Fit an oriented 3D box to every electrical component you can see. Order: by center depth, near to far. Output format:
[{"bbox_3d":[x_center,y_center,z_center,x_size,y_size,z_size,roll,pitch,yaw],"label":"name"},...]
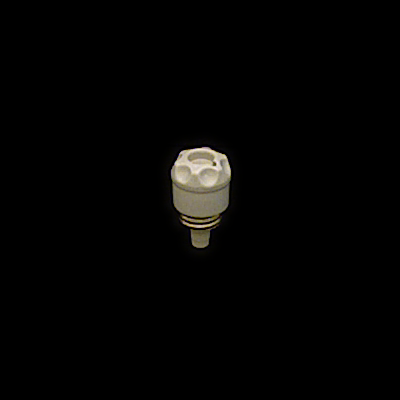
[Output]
[{"bbox_3d":[0.000,0.000,0.639,0.035,0.062,0.035,1,33,0],"label":"electrical component"}]
